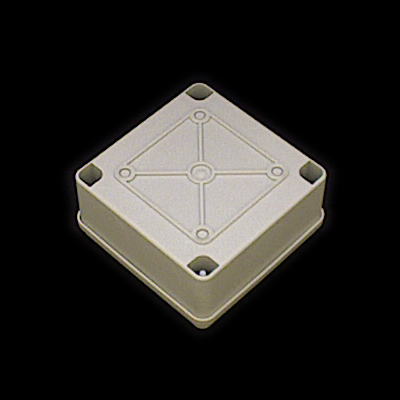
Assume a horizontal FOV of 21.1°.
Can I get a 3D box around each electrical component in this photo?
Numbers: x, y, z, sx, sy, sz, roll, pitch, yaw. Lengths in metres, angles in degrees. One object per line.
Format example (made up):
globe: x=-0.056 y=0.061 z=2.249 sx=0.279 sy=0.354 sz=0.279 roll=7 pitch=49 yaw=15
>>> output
electrical component: x=0.000 y=0.000 z=0.627 sx=0.108 sy=0.056 sz=0.109 roll=38 pitch=62 yaw=25
